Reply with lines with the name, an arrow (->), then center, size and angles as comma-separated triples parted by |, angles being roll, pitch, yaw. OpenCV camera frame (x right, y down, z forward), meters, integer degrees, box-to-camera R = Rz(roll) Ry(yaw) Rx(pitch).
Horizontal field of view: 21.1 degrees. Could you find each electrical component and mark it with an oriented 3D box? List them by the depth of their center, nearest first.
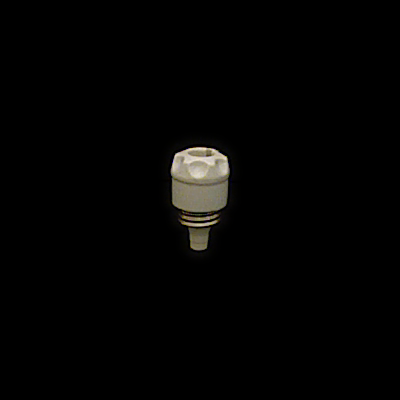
electrical component -> 0.000, 0.000, 0.647 | 0.035, 0.062, 0.034 | 1, 22, 0
